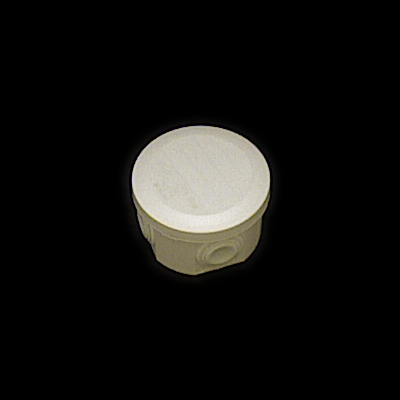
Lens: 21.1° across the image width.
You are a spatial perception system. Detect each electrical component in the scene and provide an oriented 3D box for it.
[{"bbox_3d":[0.000,0.000,0.632,0.080,0.080,0.051,0,-38,0],"label":"electrical component"}]
